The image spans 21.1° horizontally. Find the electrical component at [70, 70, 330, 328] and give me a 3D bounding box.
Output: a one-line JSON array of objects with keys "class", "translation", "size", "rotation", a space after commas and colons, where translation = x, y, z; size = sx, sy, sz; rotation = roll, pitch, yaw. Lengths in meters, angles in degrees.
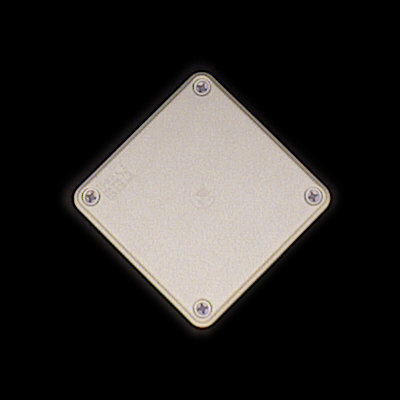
[{"class": "electrical component", "translation": [0.000, 0.000, 0.631], "size": [0.109, 0.109, 0.056], "rotation": [45, -5, 4]}]
